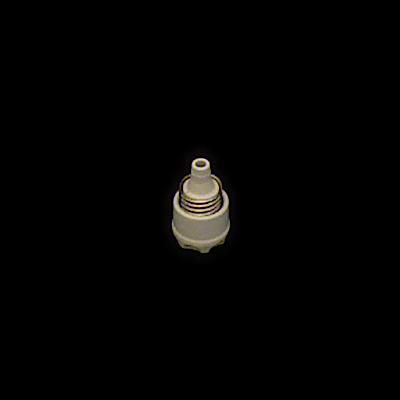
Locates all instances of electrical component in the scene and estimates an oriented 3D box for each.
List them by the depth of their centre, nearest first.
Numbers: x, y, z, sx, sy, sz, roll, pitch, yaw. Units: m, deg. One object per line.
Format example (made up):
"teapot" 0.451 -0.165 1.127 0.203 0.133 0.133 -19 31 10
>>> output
"electrical component" 0.000 0.000 0.643 0.035 0.062 0.034 0 44 0
